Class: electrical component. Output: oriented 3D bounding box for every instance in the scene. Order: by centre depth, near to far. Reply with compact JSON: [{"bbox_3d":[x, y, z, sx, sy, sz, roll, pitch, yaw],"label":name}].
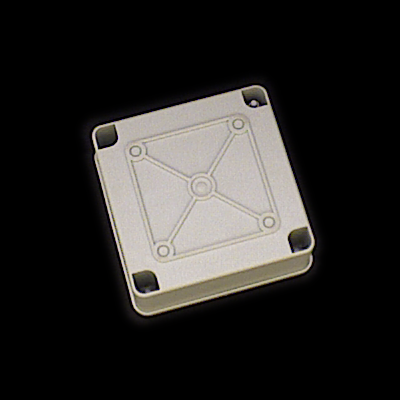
[{"bbox_3d":[0.000,0.000,0.629,0.109,0.109,0.056,-15,-17,-5],"label":"electrical component"}]
